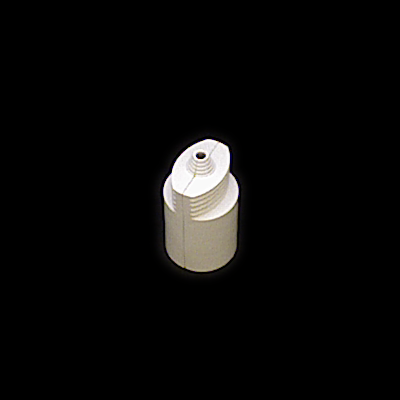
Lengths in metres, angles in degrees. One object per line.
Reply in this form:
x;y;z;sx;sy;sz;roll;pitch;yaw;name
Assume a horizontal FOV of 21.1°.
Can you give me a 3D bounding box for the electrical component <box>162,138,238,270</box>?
0.000;0.000;0.620;0.043;0.043;0.081;0;-38;0;electrical component
